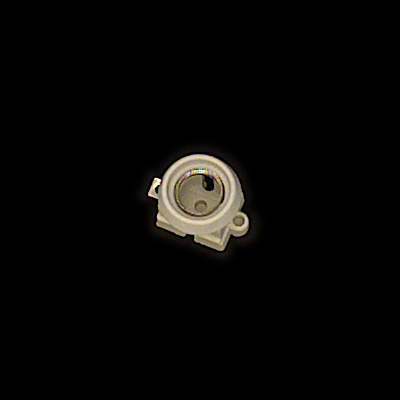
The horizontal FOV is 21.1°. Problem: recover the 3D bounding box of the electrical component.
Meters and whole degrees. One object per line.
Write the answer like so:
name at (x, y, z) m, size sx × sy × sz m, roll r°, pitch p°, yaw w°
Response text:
electrical component at (0.000, 0.000, 0.637) m, size 0.066 × 0.049 × 0.055 m, roll 20°, pitch -17°, yaw 6°
